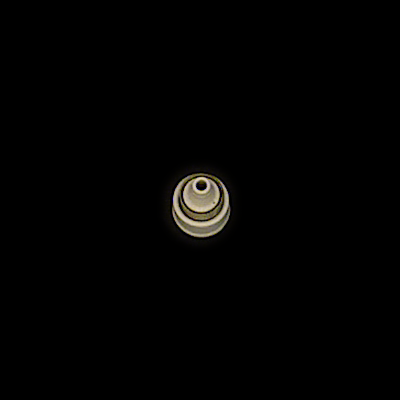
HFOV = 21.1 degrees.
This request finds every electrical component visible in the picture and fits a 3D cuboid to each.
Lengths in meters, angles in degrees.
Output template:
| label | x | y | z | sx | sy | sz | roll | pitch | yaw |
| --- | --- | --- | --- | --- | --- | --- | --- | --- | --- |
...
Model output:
| label | x | y | z | sx | sy | sz | roll | pitch | yaw |
| --- | --- | --- | --- | --- | --- | --- | --- | --- | --- |
| electrical component | 0.000 | 0.000 | 0.637 | 0.035 | 0.035 | 0.061 | 0 | -16 | -1 |
